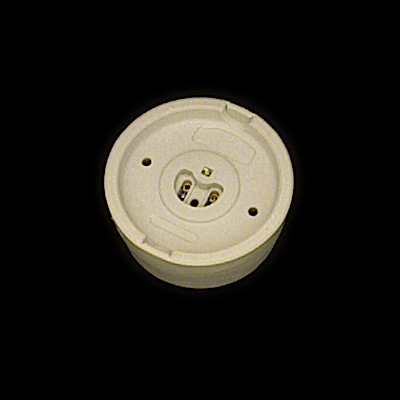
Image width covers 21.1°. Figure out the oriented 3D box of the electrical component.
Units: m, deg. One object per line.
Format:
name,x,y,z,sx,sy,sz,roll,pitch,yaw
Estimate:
electrical component,0.000,0.000,0.636,0.108,0.107,0.060,0,-26,0
